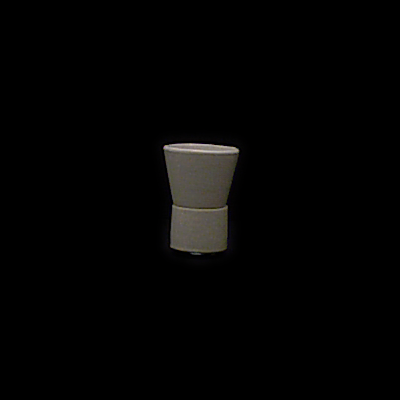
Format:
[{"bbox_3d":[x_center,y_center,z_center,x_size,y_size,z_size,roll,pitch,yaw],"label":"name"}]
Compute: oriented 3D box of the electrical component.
[{"bbox_3d":[0.000,0.000,0.646,0.044,0.066,0.044,1,10,0],"label":"electrical component"}]
